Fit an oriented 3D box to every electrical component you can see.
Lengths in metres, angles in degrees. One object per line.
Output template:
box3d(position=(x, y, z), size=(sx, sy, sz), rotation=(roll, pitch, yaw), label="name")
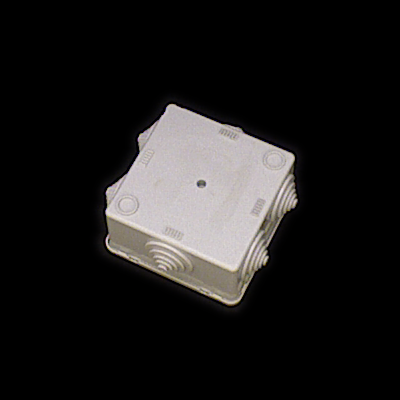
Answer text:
box3d(position=(0.000, 0.000, 0.632), size=(0.099, 0.100, 0.048), rotation=(24, -25, 11), label="electrical component")
